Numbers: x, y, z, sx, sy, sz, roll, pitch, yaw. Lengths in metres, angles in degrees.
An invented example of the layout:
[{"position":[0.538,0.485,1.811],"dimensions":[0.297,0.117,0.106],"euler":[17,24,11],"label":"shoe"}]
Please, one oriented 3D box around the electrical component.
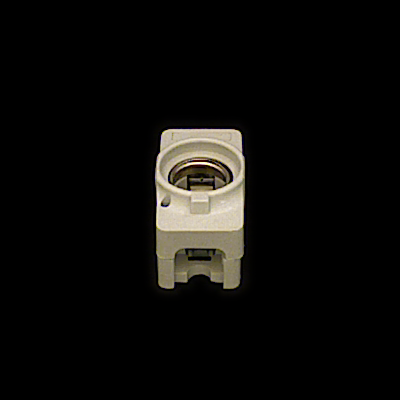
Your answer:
[{"position":[0.000,0.000,0.639],"dimensions":[0.050,0.056,0.089],"euler":[0,42,0],"label":"electrical component"}]
